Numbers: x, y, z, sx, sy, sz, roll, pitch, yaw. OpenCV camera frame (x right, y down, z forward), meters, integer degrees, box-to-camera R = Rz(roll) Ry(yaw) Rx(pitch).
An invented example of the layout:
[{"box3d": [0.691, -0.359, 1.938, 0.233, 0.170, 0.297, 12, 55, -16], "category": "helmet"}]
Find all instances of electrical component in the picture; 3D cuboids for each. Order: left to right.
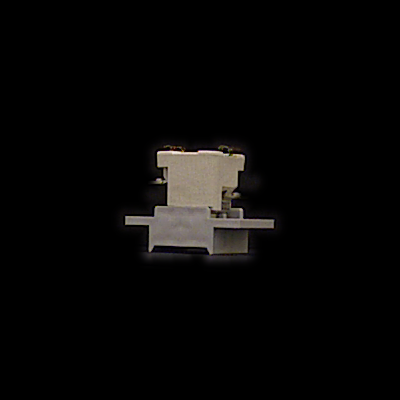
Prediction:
[{"box3d": [0.000, 0.000, 0.650, 0.081, 0.064, 0.042, 1, 1, 31], "category": "electrical component"}]
